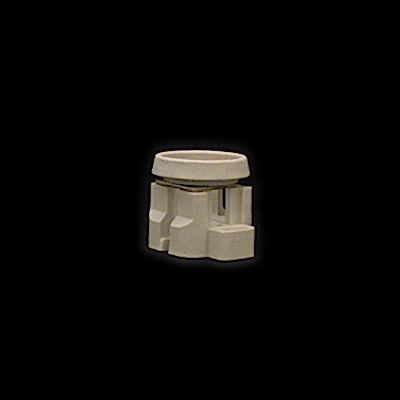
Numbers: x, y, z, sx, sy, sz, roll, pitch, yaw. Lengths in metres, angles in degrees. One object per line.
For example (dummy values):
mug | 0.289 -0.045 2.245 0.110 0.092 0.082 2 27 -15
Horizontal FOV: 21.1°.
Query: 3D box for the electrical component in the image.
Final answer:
electrical component | 0.000 0.000 0.645 0.058 0.057 0.077 -7 14 -37
